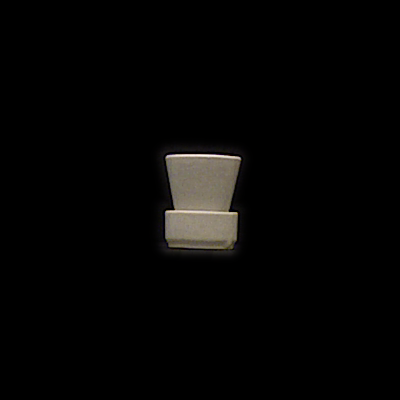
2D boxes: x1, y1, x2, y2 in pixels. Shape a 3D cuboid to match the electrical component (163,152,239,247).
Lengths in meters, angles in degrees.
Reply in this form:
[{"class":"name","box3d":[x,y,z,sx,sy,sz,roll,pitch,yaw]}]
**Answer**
[{"class":"electrical component","box3d":[0.000,0.000,0.652,0.045,0.055,0.045,2,1,0]}]
